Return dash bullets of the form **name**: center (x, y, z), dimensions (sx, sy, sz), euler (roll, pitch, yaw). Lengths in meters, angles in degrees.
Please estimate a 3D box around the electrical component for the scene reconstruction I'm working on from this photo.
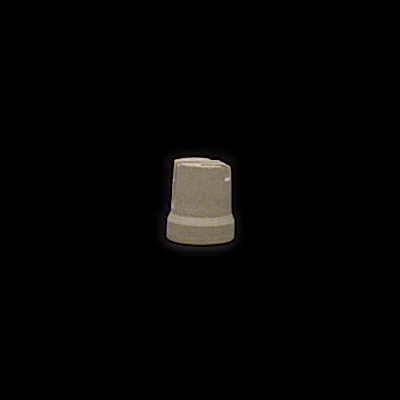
- **electrical component**: center (0.000, 0.000, 0.645), dimensions (0.040, 0.046, 0.040), euler (1, 12, 0)
